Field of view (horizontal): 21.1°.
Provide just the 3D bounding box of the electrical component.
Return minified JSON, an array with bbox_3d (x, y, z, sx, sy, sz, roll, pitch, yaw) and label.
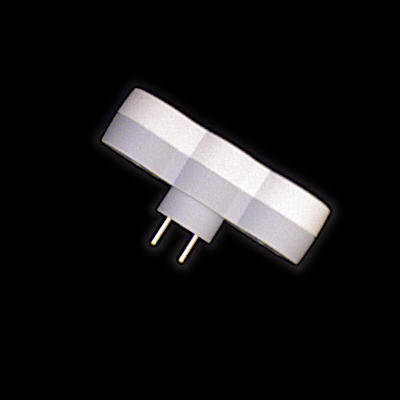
[{"bbox_3d":[0.000,0.000,0.631,0.138,0.074,0.052,32,-4,3],"label":"electrical component"}]
